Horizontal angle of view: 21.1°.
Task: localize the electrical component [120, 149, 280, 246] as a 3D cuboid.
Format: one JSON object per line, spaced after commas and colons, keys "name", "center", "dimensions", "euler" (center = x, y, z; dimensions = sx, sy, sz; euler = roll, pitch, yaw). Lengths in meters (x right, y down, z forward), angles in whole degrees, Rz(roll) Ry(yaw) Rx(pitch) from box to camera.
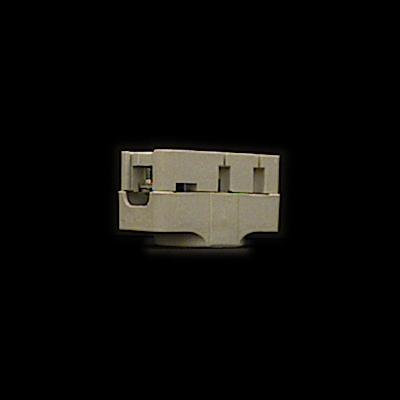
{"name": "electrical component", "center": [0.000, 0.000, 0.657], "dimensions": [0.090, 0.056, 0.049], "euler": [1, 1, -36]}
